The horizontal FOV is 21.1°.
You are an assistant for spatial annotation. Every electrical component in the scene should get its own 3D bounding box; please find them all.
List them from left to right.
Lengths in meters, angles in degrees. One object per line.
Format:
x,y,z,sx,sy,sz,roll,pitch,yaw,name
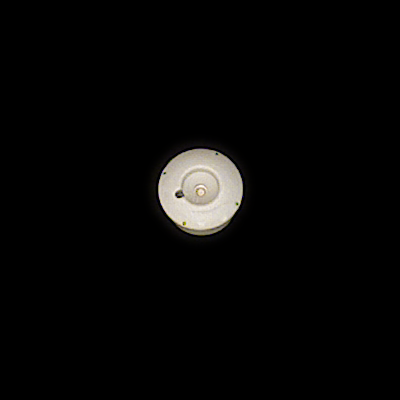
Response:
0.000,0.000,0.632,0.048,0.048,0.061,0,-16,1,electrical component
